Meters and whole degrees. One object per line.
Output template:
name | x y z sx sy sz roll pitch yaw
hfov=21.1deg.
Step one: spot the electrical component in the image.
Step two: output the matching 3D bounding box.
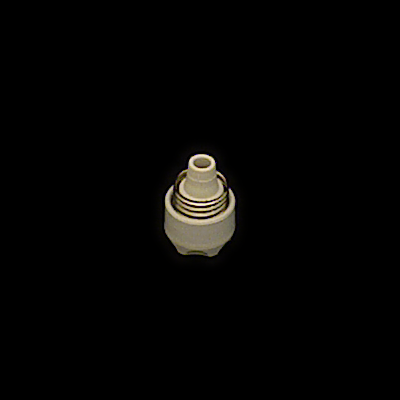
electrical component | 0.000 0.000 0.638 0.043 0.062 0.043 1 43 -1
